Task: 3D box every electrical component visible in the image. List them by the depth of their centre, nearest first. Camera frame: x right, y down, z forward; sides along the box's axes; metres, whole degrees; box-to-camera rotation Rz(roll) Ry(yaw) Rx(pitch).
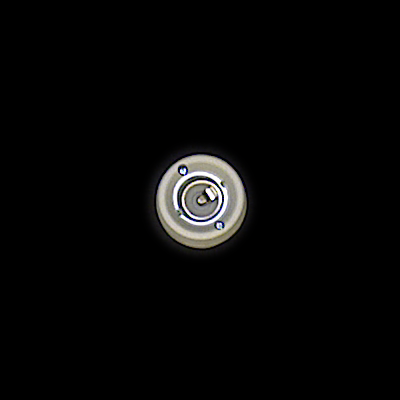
[{"bbox_3d":[0.000,0.000,0.633,0.055,0.055,0.047,0,-6,0],"label":"electrical component"}]
